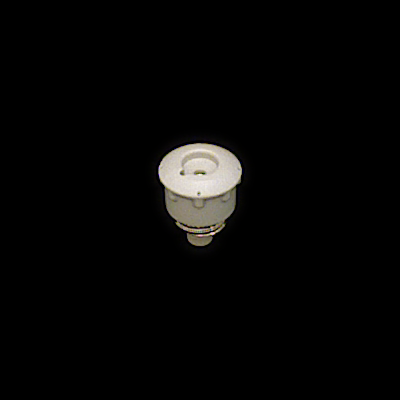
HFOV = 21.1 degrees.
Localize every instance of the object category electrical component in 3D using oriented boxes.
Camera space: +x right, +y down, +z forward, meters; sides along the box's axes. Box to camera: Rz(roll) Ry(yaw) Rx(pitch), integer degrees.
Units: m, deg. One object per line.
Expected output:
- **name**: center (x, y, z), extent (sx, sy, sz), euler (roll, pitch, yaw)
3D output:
- **electrical component**: center (0.000, 0.000, 0.636), extent (0.048, 0.062, 0.047), euler (0, 43, 0)
